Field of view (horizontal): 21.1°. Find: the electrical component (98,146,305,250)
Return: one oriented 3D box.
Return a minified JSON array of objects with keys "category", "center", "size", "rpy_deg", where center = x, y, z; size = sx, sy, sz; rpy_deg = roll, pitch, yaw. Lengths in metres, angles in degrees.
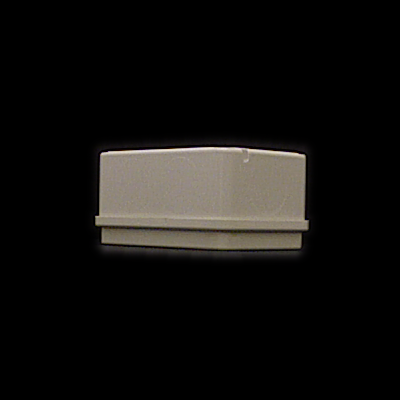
[{"category":"electrical component","center":[0.000,0.000,0.649],"size":[0.113,0.057,0.078],"rpy_deg":[1,0,45]}]
